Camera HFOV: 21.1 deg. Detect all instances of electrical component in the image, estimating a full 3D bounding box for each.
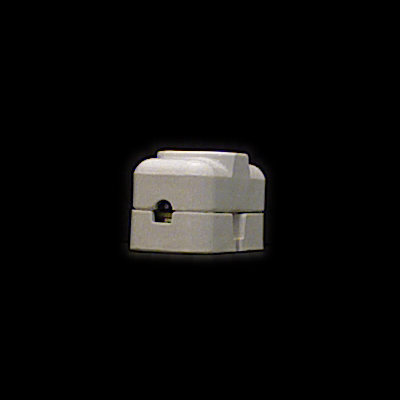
[{"bbox_3d":[0.000,0.000,0.657,0.053,0.059,0.096,3,1,27],"label":"electrical component"}]
